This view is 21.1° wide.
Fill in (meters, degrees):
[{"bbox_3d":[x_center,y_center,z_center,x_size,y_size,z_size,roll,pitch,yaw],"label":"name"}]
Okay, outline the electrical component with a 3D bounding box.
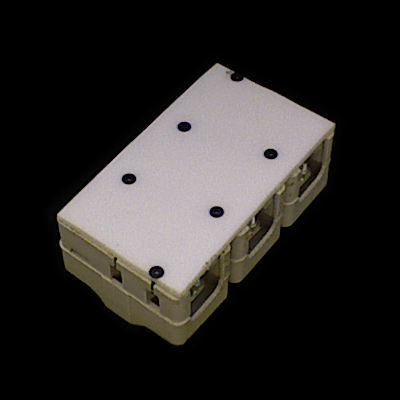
[{"bbox_3d":[0.000,0.000,0.631,0.089,0.149,0.062,31,-31,22],"label":"electrical component"}]
